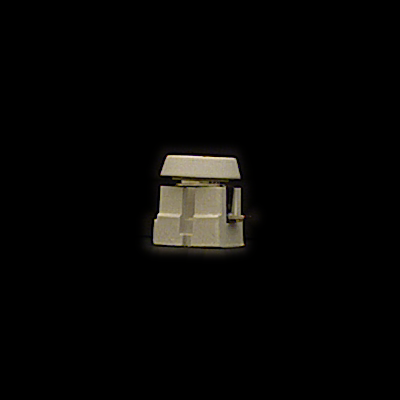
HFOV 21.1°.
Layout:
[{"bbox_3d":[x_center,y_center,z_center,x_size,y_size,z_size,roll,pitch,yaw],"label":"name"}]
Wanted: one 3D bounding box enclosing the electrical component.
[{"bbox_3d":[0.000,0.000,0.657,0.066,0.055,0.048,2,4,25],"label":"electrical component"}]
